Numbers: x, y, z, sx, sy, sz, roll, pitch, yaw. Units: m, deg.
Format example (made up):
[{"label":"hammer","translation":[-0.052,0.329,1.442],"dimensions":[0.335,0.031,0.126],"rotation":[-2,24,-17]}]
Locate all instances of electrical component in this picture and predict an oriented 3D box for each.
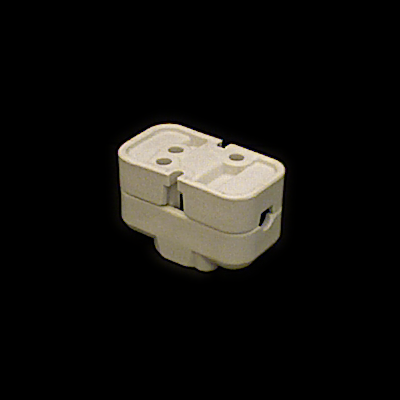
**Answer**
[{"label":"electrical component","translation":[0.000,0.000,0.639],"dimensions":[0.094,0.060,0.053],"rotation":[22,38,29]}]
